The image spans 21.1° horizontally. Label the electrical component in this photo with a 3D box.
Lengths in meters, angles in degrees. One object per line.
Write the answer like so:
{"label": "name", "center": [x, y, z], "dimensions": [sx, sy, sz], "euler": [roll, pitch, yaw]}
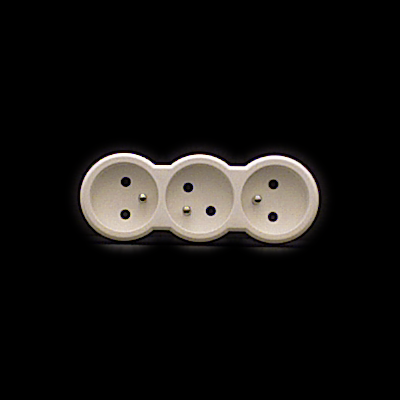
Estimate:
{"label": "electrical component", "center": [0.000, 0.000, 0.649], "dimensions": [0.138, 0.052, 0.074], "euler": [1, -2, -1]}
